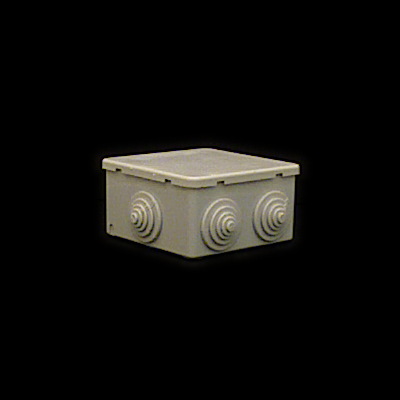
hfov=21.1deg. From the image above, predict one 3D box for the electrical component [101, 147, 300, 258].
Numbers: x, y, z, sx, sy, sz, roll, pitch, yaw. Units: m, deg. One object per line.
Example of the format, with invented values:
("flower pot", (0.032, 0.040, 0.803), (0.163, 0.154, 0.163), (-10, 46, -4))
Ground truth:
("electrical component", (0.000, 0.000, 0.654), (0.100, 0.049, 0.098), (-8, 15, -40))
